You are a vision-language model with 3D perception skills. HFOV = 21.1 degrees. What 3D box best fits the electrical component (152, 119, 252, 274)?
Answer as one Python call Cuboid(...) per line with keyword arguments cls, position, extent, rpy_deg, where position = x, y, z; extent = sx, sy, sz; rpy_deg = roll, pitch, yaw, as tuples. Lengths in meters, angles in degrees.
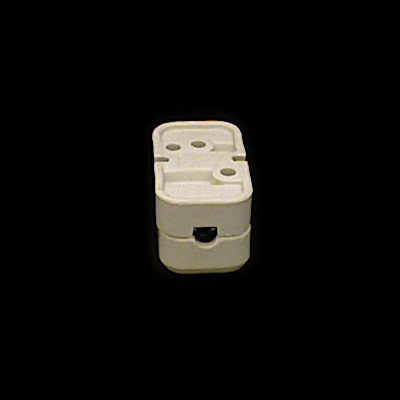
Cuboid(cls="electrical component", position=(0.000, 0.000, 0.640), extent=(0.054, 0.060, 0.094), rpy_deg=(-2, 33, -4))
